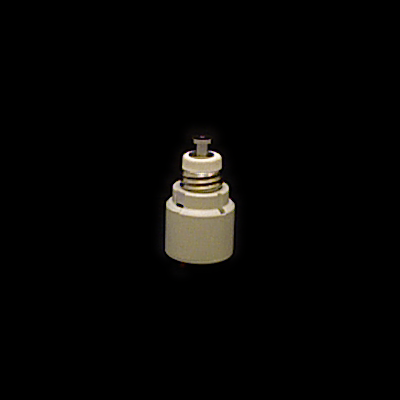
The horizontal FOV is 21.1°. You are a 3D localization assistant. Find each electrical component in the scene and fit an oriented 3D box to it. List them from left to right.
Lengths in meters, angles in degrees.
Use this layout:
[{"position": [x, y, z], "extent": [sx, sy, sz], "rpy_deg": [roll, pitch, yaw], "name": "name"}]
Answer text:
[{"position": [0.000, 0.000, 0.637], "extent": [0.040, 0.079, 0.039], "rpy_deg": [2, 22, -1], "name": "electrical component"}]
